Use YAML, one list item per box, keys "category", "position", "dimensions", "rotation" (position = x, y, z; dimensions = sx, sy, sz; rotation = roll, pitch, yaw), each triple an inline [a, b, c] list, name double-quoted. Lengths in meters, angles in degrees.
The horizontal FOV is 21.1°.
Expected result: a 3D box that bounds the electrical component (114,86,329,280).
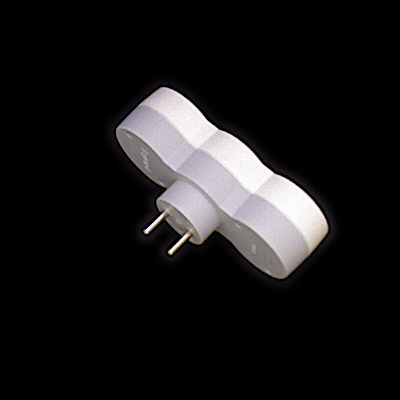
- category: "electrical component"
  position: [0.000, 0.000, 0.630]
  dimensions: [0.138, 0.074, 0.052]
  rotation: [39, -19, 17]
